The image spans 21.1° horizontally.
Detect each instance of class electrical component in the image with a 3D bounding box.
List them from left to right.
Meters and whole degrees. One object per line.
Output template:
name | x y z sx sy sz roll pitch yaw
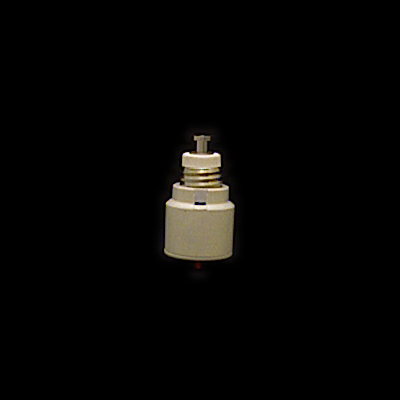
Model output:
electrical component | 0.000 0.000 0.642 0.040 0.079 0.040 2 11 0
